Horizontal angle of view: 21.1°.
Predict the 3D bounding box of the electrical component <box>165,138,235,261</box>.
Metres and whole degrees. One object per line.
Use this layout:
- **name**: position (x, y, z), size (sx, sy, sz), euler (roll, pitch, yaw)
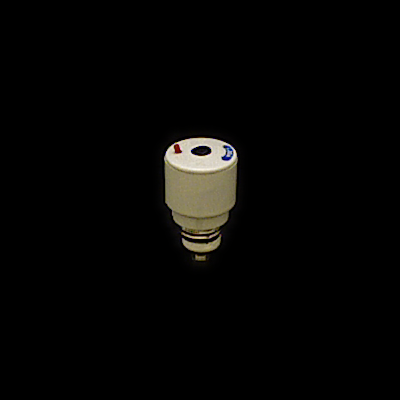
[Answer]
- **electrical component**: position (0.000, 0.000, 0.630), size (0.040, 0.079, 0.039), euler (0, 31, 0)
